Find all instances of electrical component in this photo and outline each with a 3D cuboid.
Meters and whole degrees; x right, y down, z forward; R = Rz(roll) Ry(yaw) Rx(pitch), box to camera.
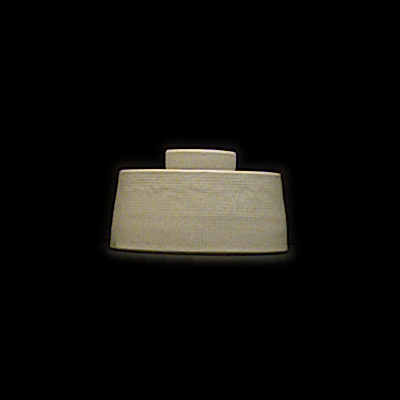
[{"bbox_3d":[0.000,0.000,0.655,0.108,0.060,0.108,2,1,1],"label":"electrical component"}]
